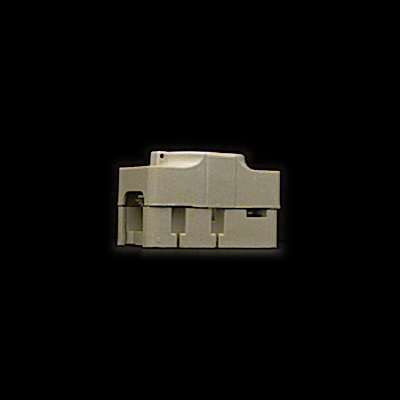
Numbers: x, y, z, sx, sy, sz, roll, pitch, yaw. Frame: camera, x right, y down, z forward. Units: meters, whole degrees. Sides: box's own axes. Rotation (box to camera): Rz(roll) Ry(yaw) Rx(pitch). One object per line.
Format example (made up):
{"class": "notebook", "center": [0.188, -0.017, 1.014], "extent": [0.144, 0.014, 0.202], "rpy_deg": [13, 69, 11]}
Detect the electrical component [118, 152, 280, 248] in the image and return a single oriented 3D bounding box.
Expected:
{"class": "electrical component", "center": [0.000, 0.000, 0.657], "extent": [0.090, 0.056, 0.050], "rpy_deg": [1, 1, -31]}
